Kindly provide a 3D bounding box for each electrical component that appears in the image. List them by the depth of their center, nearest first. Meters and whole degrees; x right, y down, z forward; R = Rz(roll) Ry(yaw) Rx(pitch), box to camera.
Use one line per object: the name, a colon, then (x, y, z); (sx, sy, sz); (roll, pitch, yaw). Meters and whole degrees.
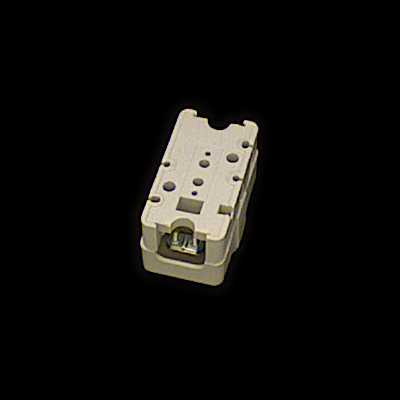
electrical component: (0.000, 0.000, 0.637); (0.050, 0.089, 0.056); (12, -35, 8)
